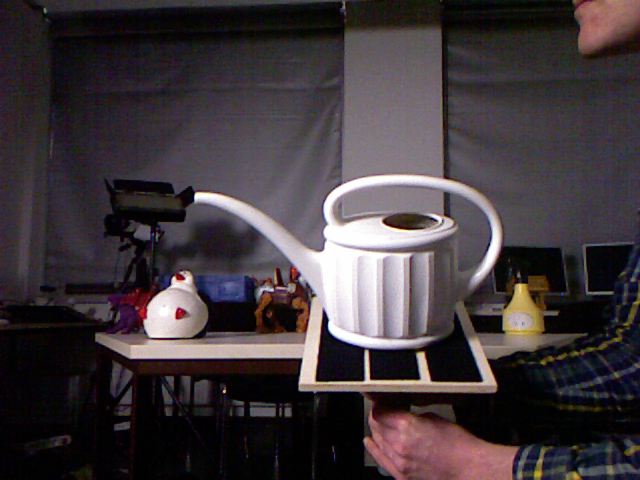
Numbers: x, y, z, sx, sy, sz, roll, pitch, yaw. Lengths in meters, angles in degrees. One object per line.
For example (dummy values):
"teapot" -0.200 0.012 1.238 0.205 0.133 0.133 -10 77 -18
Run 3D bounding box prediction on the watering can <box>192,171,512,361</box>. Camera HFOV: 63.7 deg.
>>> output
"watering can" 0.038 0.029 0.593 0.350 0.222 0.107 0 22 2
